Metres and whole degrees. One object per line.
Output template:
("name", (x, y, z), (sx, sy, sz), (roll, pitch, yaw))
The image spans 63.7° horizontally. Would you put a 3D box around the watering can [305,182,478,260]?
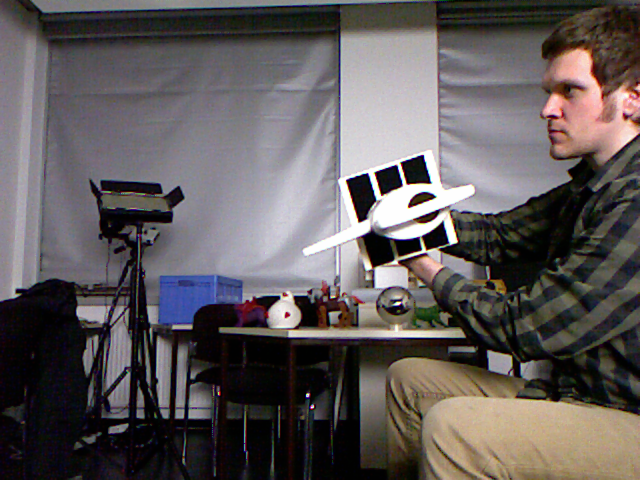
("watering can", (0.132, -0.042, 1.008), (0.349, 0.104, 0.225), (-20, 2, -2))
